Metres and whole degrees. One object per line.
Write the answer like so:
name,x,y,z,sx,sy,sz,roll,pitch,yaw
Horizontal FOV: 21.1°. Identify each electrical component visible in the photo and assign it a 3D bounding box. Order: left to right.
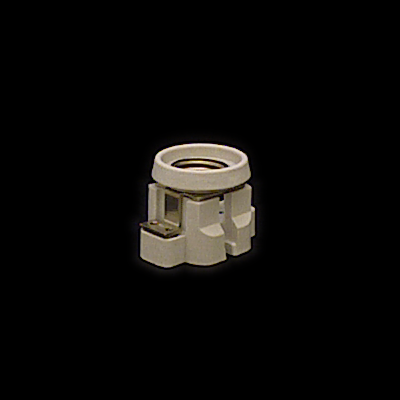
electrical component,0.000,0.000,0.637,0.078,0.057,0.057,-19,29,-42
